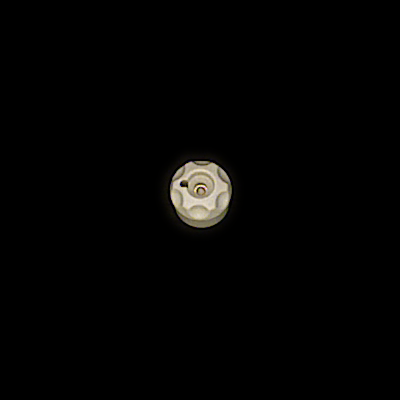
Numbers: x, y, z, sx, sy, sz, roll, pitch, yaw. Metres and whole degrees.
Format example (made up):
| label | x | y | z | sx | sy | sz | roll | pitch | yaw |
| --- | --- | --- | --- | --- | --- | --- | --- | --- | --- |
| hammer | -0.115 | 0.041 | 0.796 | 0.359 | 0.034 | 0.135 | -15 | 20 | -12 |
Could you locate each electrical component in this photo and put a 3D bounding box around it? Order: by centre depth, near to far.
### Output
| label | x | y | z | sx | sy | sz | roll | pitch | yaw |
| --- | --- | --- | --- | --- | --- | --- | --- | --- | --- |
| electrical component | 0.000 | 0.000 | 0.634 | 0.035 | 0.035 | 0.061 | 0 | -16 | 1 |
